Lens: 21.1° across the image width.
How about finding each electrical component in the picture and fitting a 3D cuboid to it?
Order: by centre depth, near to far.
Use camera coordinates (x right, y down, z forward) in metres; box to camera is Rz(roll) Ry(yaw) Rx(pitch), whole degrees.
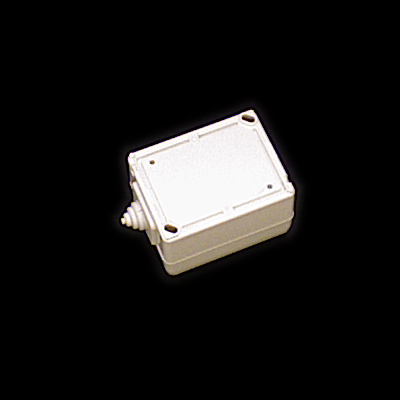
[{"bbox_3d":[0.000,0.000,0.628,0.096,0.062,0.061,-21,-25,-10],"label":"electrical component"}]
